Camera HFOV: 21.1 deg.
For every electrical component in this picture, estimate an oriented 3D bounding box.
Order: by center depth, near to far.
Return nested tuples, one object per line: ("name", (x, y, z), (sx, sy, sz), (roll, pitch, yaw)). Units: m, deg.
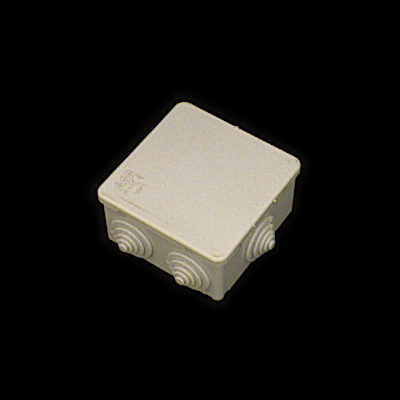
("electrical component", (0.000, 0.000, 0.640), (0.099, 0.100, 0.048), (29, -32, 19))
